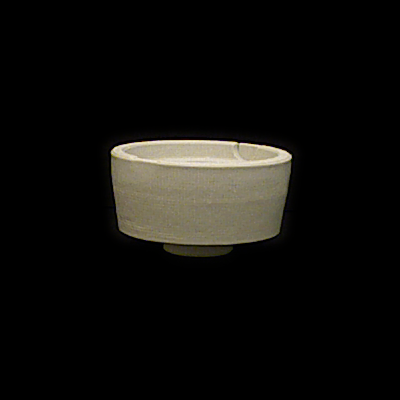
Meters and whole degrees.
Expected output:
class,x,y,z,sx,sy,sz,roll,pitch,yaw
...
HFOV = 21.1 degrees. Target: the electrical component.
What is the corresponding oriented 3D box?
class,x,y,z,sx,sy,sz,roll,pitch,yaw
electrical component,0.000,0.000,0.646,0.108,0.061,0.107,2,11,0
